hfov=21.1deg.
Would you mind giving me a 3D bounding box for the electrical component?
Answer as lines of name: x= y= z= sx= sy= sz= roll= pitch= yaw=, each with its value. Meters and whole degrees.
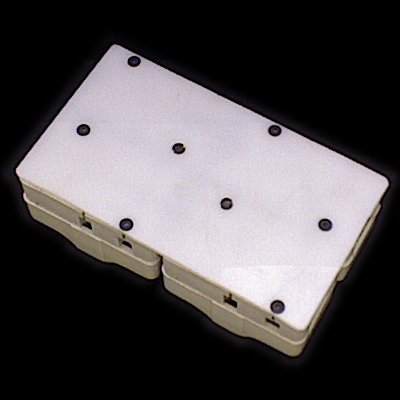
electrical component: x=0.000 y=0.000 z=0.625 sx=0.186 sy=0.106 sz=0.060 roll=28 pitch=-24 yaw=13
